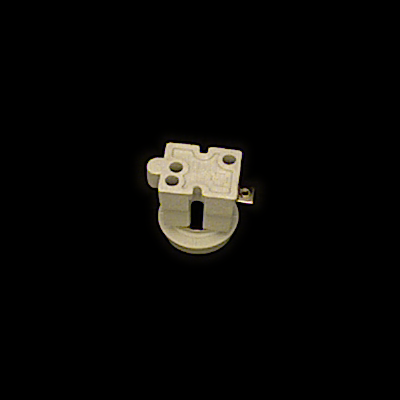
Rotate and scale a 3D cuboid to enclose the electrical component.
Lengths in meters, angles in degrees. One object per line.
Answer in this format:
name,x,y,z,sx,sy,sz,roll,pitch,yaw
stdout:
electrical component,0.000,0.000,0.638,0.066,0.048,0.055,6,-38,3
